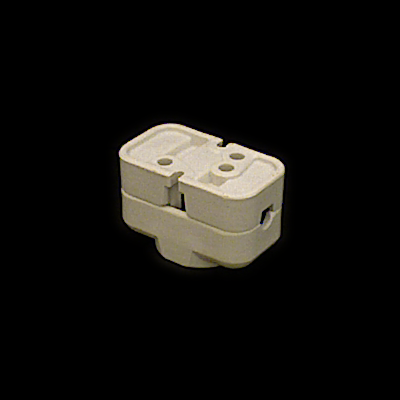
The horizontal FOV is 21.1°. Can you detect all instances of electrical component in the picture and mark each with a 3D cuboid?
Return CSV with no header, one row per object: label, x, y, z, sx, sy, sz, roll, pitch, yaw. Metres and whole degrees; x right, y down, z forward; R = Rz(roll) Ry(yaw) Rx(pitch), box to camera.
electrical component,0.000,0.000,0.644,0.094,0.060,0.053,21,37,29
